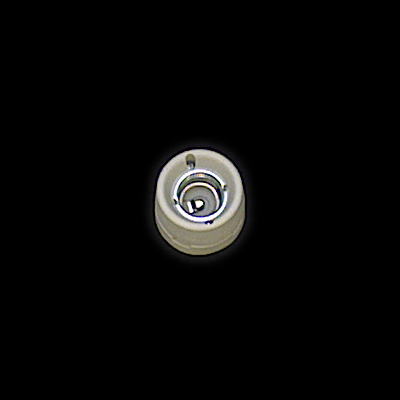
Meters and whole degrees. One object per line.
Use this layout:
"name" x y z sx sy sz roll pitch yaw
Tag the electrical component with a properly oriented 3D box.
"electrical component" 0.000 0.000 0.633 0.055 0.056 0.047 0 -18 0
